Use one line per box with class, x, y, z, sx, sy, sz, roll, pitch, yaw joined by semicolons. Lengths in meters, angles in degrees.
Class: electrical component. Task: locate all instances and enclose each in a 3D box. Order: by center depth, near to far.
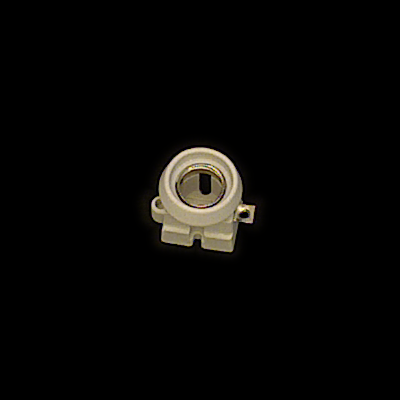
electrical component;0.000;0.000;0.638;0.066;0.048;0.055;8;-24;4
